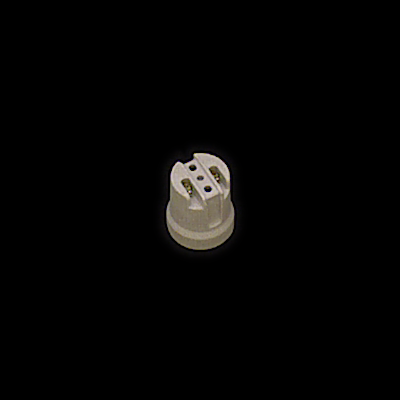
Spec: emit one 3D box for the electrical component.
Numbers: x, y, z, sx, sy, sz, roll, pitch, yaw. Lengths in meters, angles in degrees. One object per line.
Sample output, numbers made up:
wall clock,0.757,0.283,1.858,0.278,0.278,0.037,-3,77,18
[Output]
electrical component,0.000,0.000,0.633,0.040,0.040,0.046,0,-37,0
